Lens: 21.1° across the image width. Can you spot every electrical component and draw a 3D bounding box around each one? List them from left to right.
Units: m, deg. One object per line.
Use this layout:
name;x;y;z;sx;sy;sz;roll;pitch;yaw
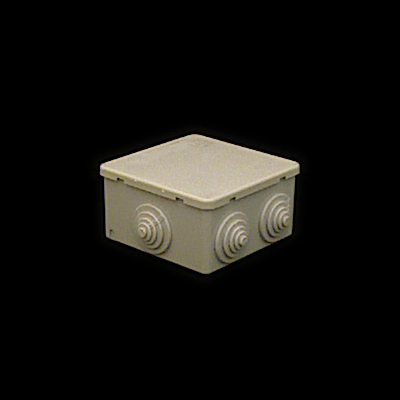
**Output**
electrical component;0.000;0.000;0.649;0.098;0.049;0.100;19;27;37
